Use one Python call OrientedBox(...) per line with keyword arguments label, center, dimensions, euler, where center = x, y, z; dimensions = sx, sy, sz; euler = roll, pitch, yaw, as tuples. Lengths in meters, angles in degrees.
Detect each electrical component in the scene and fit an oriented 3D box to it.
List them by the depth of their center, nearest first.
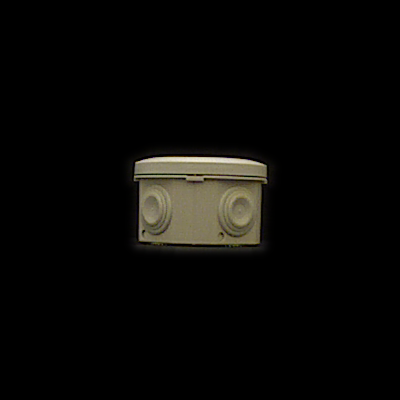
OrientedBox(label="electrical component", center=(0.000, 0.000, 0.648), dimensions=(0.080, 0.051, 0.080), euler=(1, 0, 0))
